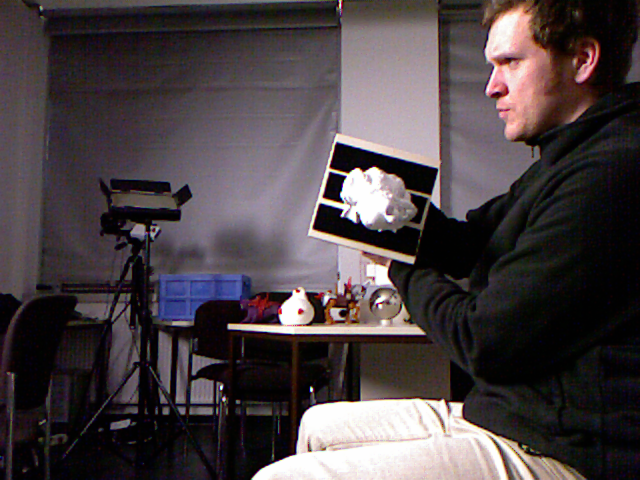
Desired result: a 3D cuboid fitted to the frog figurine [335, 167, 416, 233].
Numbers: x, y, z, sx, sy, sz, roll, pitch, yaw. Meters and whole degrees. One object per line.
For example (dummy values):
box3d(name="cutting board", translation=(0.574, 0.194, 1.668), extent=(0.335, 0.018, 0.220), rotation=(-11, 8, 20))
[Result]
box3d(name="frog figurine", translation=(0.100, -0.074, 0.887), extent=(0.138, 0.124, 0.159), rotation=(37, -10, 1))
